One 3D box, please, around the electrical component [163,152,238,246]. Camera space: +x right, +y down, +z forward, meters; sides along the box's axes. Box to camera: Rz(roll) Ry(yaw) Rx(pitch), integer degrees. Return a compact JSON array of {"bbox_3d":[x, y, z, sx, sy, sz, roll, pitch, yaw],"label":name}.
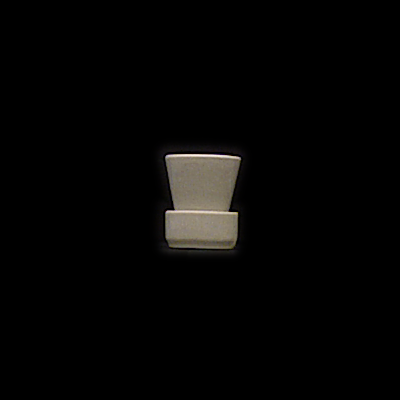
[{"bbox_3d":[0.000,0.000,0.651,0.045,0.055,0.045,2,1,0],"label":"electrical component"}]
